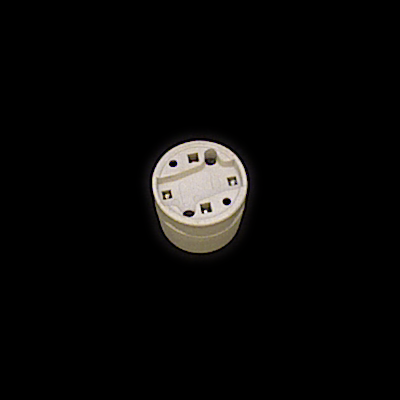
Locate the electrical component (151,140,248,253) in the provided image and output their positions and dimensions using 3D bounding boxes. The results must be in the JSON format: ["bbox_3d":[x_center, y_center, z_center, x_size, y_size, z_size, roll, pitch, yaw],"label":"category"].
[{"bbox_3d":[0.000,0.000,0.633,0.055,0.056,0.047,0,-28,0],"label":"electrical component"}]
